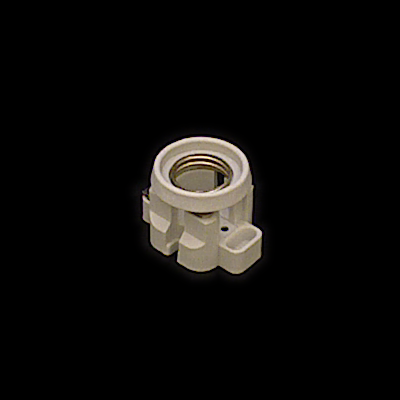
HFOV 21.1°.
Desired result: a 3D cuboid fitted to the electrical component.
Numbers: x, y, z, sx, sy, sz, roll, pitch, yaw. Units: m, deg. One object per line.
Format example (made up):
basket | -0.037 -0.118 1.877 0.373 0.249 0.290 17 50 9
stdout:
electrical component | 0.000 0.000 0.632 0.078 0.057 0.058 30 50 28
